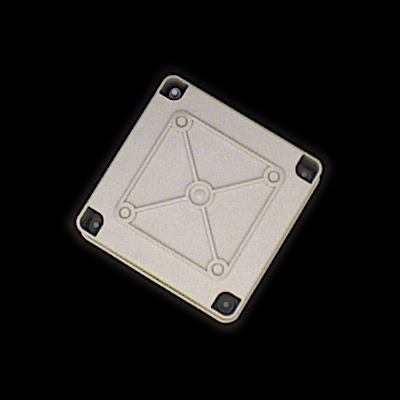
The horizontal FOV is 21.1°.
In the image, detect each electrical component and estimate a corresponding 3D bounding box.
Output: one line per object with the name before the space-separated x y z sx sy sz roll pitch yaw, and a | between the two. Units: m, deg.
electrical component | 0.000 0.000 0.629 0.109 0.109 0.056 31 -6 4
